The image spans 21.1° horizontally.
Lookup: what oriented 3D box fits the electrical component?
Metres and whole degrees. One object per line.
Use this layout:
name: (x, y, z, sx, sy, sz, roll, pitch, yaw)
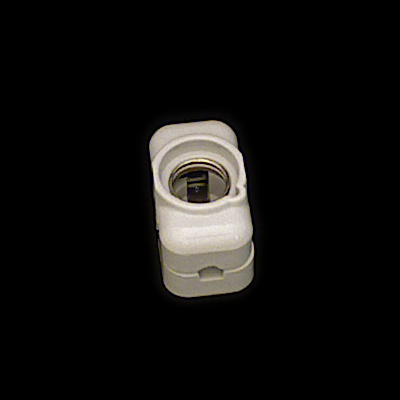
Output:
electrical component: (0.000, 0.000, 0.635, 0.054, 0.094, 0.059, -6, -36, -4)
